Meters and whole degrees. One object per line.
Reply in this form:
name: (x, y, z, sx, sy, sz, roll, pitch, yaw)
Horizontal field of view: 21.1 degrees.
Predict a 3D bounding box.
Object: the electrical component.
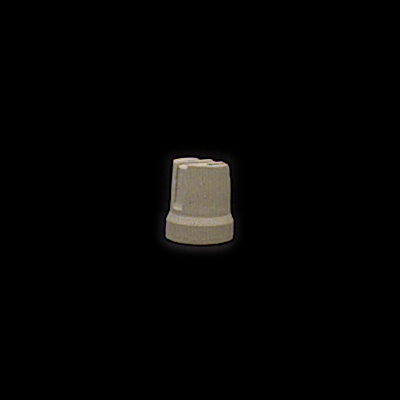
electrical component: (0.000, 0.000, 0.646, 0.040, 0.046, 0.040, 1, 12, 0)
